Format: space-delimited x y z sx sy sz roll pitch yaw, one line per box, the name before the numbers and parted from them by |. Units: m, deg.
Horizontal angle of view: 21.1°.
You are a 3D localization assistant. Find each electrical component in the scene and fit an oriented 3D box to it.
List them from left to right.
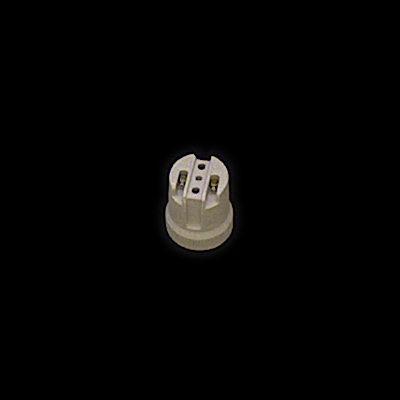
electrical component | 0.000 0.000 0.633 0.040 0.040 0.046 0 -38 0
